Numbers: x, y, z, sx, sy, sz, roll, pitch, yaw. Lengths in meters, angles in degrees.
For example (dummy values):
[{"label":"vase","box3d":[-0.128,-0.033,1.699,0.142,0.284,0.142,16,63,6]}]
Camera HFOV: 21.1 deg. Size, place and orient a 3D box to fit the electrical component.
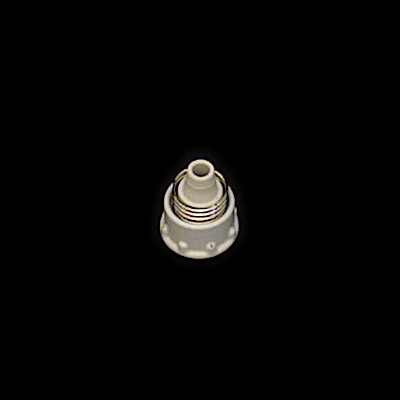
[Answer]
[{"label":"electrical component","box3d":[0.000,0.000,0.635,0.048,0.048,0.062,0,-37,-2]}]
